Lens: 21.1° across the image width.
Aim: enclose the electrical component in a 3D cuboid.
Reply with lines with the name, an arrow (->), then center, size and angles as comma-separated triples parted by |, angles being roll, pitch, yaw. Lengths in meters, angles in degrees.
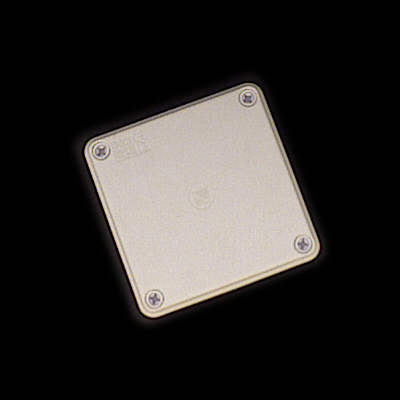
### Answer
electrical component -> 0.000, 0.000, 0.630 | 0.109, 0.109, 0.056 | -20, -6, -2
